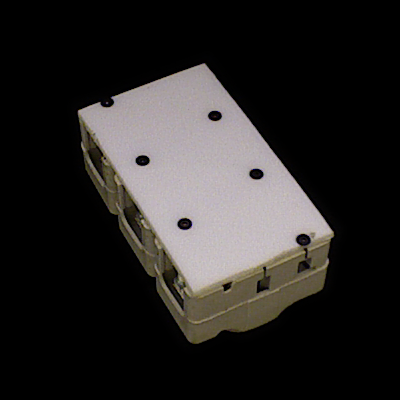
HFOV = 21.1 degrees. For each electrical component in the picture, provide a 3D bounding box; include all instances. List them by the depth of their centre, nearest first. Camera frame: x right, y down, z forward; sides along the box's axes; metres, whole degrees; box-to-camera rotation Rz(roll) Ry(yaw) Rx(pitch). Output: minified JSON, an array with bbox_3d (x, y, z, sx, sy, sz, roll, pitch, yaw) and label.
[{"bbox_3d":[0.000,0.000,0.634,0.089,0.148,0.062,-22,-34,-17],"label":"electrical component"}]
